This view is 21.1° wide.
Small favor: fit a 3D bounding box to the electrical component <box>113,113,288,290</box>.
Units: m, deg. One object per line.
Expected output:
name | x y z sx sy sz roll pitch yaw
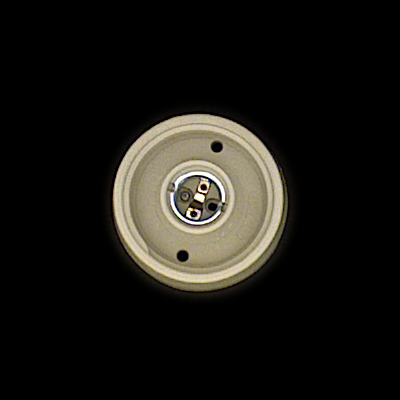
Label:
electrical component | 0.000 0.000 0.634 0.108 0.108 0.060 0 -6 0
